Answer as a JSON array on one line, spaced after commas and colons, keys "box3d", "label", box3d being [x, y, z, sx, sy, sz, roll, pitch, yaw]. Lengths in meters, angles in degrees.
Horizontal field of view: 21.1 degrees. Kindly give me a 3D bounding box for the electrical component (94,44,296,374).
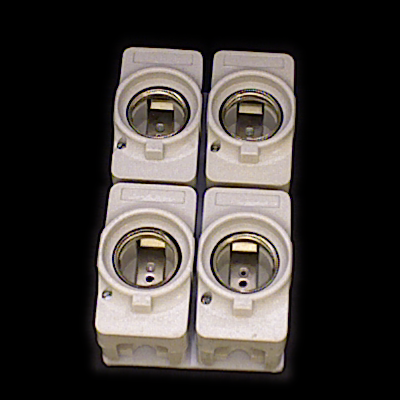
[{"box3d": [0.000, 0.000, 0.625, 0.105, 0.186, 0.060, 3, -27, 1], "label": "electrical component"}]
